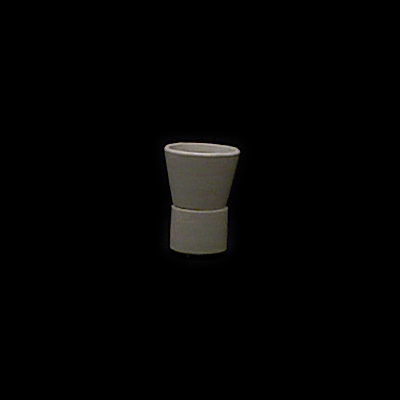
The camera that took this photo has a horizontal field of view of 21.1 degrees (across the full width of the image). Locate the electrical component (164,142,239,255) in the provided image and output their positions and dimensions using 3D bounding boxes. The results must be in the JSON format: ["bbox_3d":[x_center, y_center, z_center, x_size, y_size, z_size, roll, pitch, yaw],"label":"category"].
[{"bbox_3d":[0.000,0.000,0.643,0.044,0.066,0.044,2,11,0],"label":"electrical component"}]
